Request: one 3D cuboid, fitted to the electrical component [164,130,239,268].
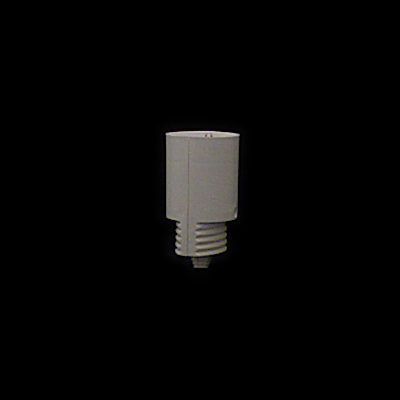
[{"bbox_3d":[0.000,0.000,0.644,0.043,0.082,0.043,2,11,0],"label":"electrical component"}]
